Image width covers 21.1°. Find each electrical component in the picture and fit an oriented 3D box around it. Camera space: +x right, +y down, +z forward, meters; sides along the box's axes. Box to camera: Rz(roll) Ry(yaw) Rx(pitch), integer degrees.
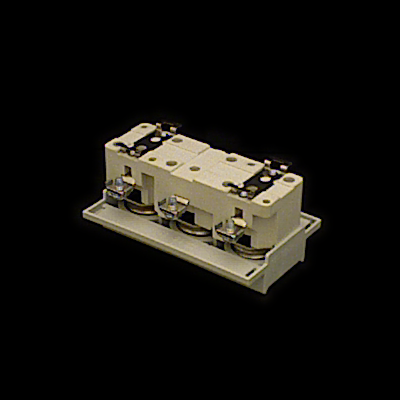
[{"bbox_3d":[0.000,0.000,0.644,0.120,0.064,0.078,21,37,29],"label":"electrical component"}]
